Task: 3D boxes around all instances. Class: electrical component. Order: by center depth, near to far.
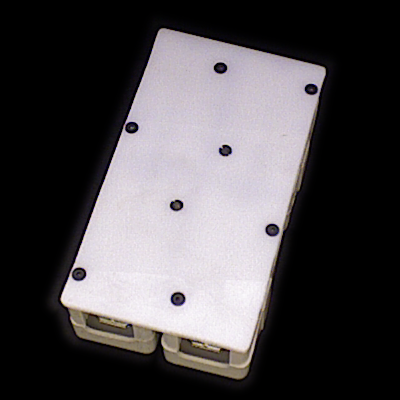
[{"bbox_3d":[0.000,0.000,0.625,0.105,0.186,0.060,14,-26,7],"label":"electrical component"}]
